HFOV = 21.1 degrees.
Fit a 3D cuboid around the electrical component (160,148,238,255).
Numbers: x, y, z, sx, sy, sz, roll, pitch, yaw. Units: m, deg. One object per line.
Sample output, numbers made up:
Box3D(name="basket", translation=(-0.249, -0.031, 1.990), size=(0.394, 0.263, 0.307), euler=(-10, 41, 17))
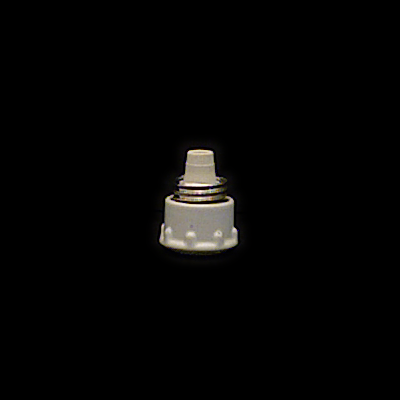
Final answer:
Box3D(name="electrical component", translation=(0.000, 0.000, 0.649), size=(0.048, 0.062, 0.047), euler=(1, 13, 0))
